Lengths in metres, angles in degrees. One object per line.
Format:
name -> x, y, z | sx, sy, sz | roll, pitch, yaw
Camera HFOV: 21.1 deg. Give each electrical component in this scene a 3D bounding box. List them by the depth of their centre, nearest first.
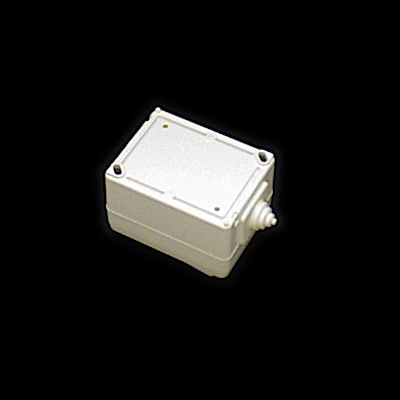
electrical component -> 0.000, 0.000, 0.627 | 0.096, 0.061, 0.061 | 23, -35, 17
